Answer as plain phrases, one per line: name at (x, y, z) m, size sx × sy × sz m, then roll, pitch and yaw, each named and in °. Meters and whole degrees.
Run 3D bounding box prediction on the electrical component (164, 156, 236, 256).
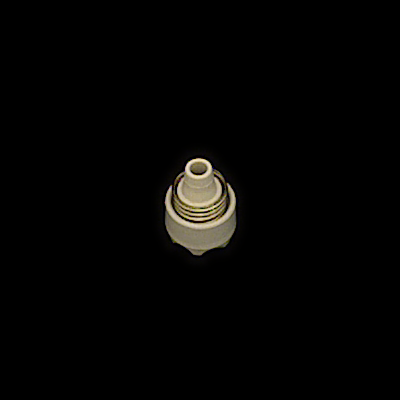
electrical component at (0.000, 0.000, 0.635) m, size 0.043 × 0.043 × 0.062 m, roll 0°, pitch -38°, yaw 1°
